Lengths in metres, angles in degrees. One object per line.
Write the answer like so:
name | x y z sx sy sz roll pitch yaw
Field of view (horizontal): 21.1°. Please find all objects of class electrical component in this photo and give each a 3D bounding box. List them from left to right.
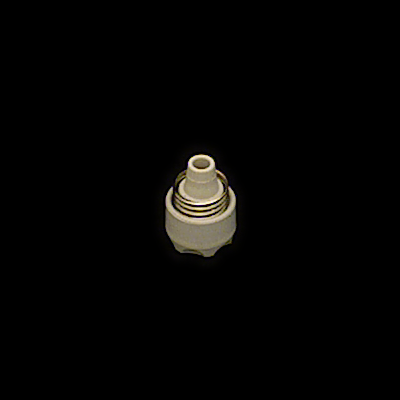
electrical component | 0.000 0.000 0.637 0.043 0.062 0.043 1 44 0
